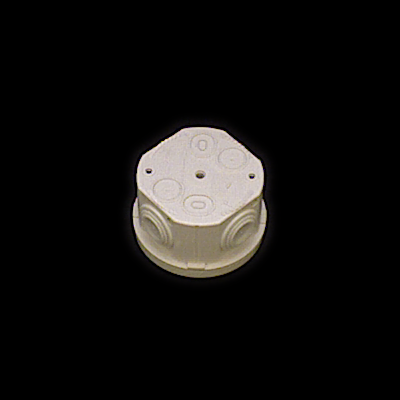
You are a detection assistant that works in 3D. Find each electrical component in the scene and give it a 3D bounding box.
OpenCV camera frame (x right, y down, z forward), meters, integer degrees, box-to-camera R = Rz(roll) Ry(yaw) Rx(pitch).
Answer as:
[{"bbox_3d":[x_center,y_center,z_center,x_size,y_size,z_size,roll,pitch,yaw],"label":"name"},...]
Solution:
[{"bbox_3d":[0.000,0.000,0.632,0.080,0.080,0.051,0,-38,-1],"label":"electrical component"}]
